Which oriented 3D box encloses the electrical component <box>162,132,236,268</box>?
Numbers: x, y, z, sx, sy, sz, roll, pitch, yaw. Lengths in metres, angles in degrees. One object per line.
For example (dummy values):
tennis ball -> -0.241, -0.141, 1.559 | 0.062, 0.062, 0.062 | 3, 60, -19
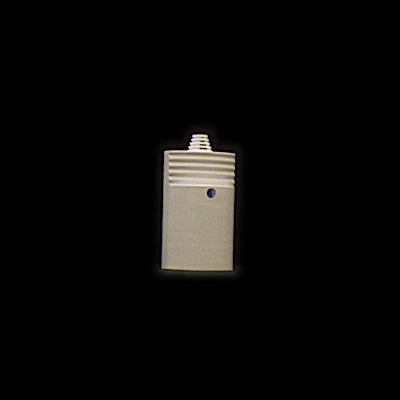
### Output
electrical component -> 0.000, 0.000, 0.649 | 0.043, 0.081, 0.043 | 1, 1, 0
